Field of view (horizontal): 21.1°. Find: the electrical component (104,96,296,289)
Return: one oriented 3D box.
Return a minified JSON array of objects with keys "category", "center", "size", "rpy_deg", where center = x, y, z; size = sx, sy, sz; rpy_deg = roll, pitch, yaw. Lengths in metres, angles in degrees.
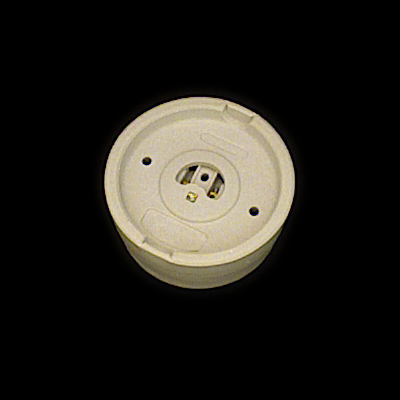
[{"category":"electrical component","center":[0.000,0.000,0.632],"size":[0.108,0.108,0.060],"rpy_deg":[0,-27,-1]}]
